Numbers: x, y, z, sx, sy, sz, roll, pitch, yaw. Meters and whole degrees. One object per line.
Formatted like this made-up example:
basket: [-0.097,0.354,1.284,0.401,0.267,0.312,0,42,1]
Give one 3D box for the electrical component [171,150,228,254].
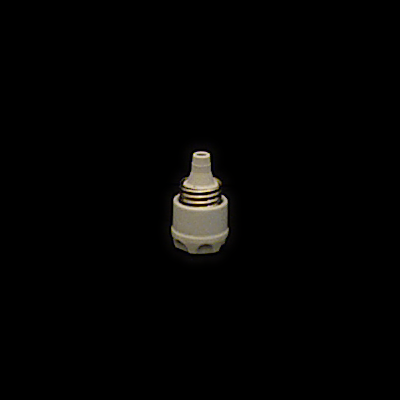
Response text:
electrical component: [0.000,0.000,0.653,0.035,0.062,0.034,1,24,0]
